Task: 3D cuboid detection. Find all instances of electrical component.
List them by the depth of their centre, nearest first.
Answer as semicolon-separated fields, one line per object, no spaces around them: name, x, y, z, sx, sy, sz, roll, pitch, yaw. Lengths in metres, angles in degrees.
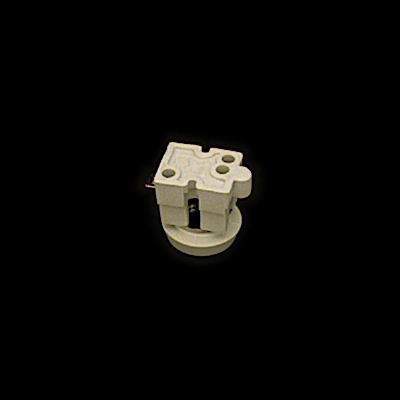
electrical component;0.000;0.000;0.641;0.066;0.056;0.048;10;45;11
